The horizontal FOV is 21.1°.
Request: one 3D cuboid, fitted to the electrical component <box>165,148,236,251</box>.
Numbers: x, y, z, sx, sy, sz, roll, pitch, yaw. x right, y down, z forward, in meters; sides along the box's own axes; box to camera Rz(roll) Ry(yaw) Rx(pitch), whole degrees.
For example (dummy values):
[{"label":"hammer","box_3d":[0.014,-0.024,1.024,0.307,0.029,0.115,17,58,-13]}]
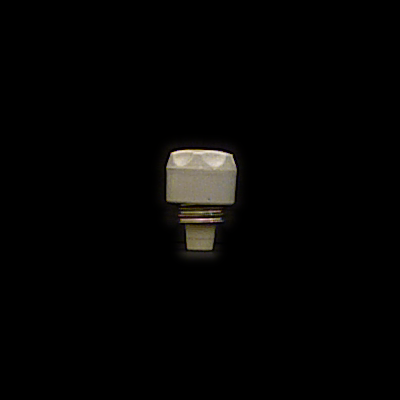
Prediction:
[{"label":"electrical component","box_3d":[0.000,0.000,0.656,0.043,0.062,0.043,1,3,0]}]
